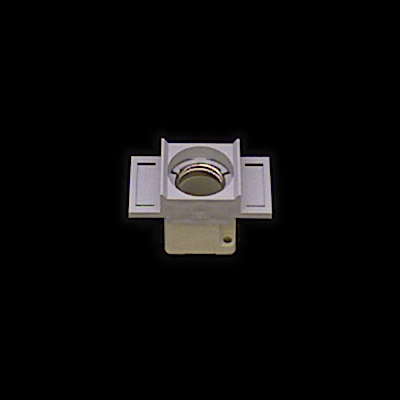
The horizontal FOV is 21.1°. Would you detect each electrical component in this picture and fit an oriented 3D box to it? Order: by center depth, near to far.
[{"bbox_3d":[0.000,0.000,0.626,0.081,0.042,0.064,1,-37,-1],"label":"electrical component"}]
